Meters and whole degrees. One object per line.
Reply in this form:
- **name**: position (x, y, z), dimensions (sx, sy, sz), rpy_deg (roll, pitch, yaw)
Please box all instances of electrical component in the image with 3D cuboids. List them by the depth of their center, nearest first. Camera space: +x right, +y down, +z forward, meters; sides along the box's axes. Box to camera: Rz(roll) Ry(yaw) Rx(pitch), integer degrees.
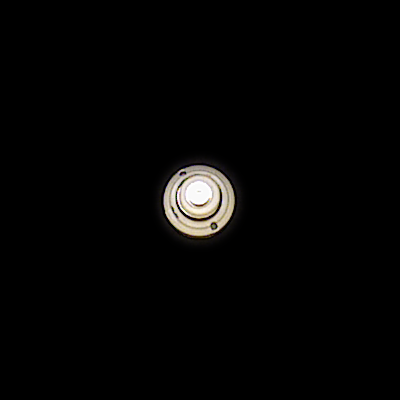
- **electrical component**: position (0.000, 0.000, 0.618), dimensions (0.040, 0.040, 0.078), rpy_deg (0, -5, -1)
